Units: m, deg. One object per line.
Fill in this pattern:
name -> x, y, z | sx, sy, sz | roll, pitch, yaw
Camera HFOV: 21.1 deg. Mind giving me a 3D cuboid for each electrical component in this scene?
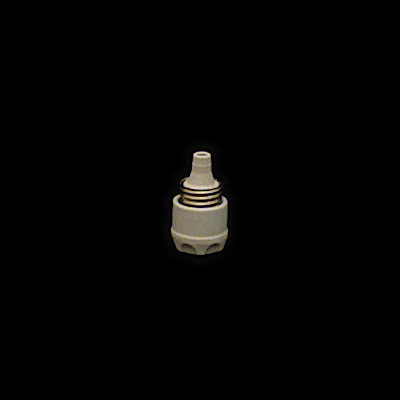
electrical component -> 0.000, 0.000, 0.652 | 0.035, 0.062, 0.034 | 2, 22, -1
